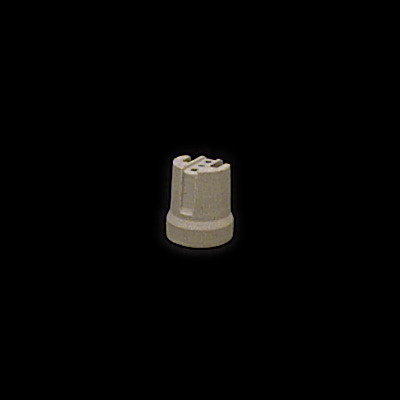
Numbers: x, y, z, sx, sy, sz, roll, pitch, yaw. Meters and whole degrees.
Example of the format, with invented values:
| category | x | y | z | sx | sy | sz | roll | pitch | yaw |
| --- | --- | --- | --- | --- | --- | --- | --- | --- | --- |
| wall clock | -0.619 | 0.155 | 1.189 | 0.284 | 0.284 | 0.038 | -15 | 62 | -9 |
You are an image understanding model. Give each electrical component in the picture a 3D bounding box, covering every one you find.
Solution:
| category | x | y | z | sx | sy | sz | roll | pitch | yaw |
| --- | --- | --- | --- | --- | --- | --- | --- | --- | --- |
| electrical component | 0.000 | 0.000 | 0.642 | 0.040 | 0.046 | 0.040 | 1 | 22 | 0 |
